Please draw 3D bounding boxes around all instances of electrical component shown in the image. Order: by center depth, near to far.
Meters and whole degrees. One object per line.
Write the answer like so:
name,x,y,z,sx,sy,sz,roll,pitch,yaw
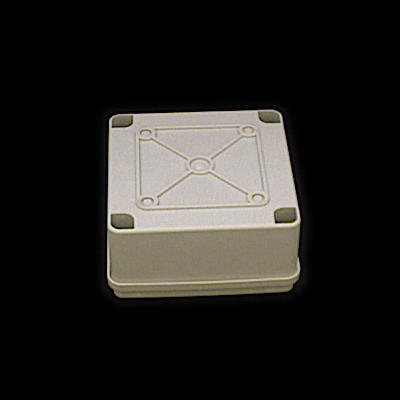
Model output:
electrical component,0.000,0.000,0.630,0.109,0.056,0.108,-2,42,-3
